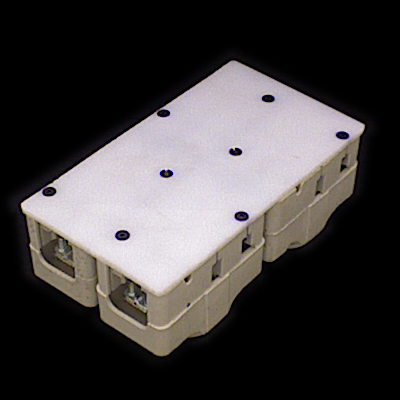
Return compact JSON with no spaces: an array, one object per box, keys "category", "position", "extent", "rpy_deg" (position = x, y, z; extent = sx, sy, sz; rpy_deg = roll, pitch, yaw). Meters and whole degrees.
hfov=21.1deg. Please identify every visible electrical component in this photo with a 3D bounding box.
[{"category":"electrical component","position":[0.000,0.000,0.630],"extent":[0.105,0.061,0.186],"rpy_deg":[30,49,28]}]
